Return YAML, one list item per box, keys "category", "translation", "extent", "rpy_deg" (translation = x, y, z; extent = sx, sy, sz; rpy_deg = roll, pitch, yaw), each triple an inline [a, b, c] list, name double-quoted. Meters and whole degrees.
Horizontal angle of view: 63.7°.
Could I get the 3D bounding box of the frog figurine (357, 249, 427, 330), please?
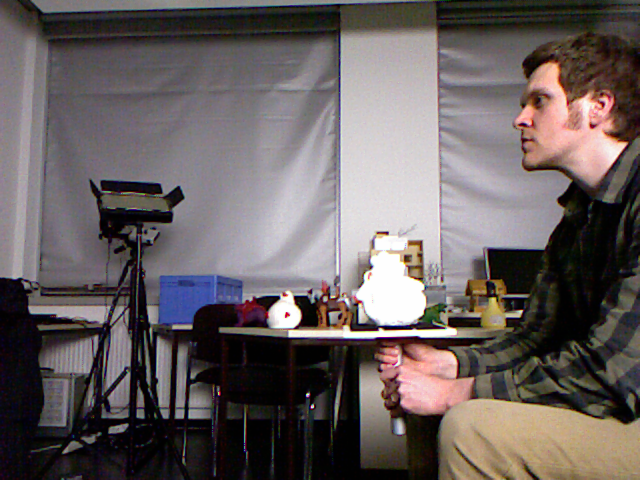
- category: "frog figurine"
  translation: [0.144, 0.098, 1.038]
  extent: [0.137, 0.160, 0.123]
  rpy_deg: [-4, -2, 21]
